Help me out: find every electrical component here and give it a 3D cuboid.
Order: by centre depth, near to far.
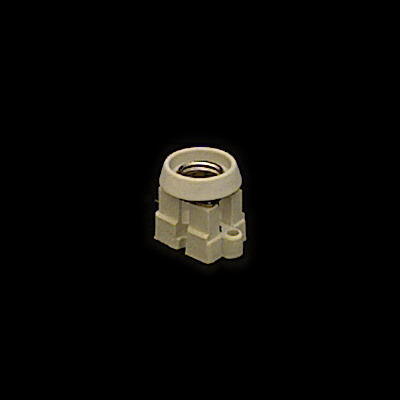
[{"bbox_3d":[0.000,0.000,0.643,0.065,0.056,0.048,23,37,31],"label":"electrical component"}]
